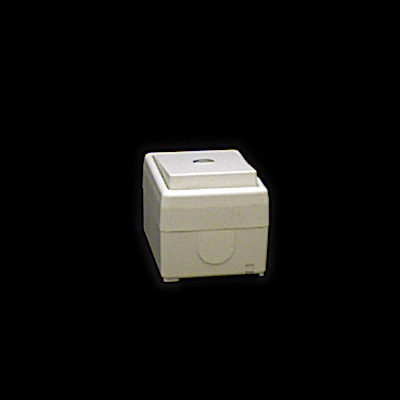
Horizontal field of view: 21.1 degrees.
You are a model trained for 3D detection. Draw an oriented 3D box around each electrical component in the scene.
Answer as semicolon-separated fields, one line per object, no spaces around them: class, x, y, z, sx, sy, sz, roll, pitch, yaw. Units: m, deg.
electrical component;0.000;0.000;0.641;0.062;0.061;0.095;-3;21;-10
